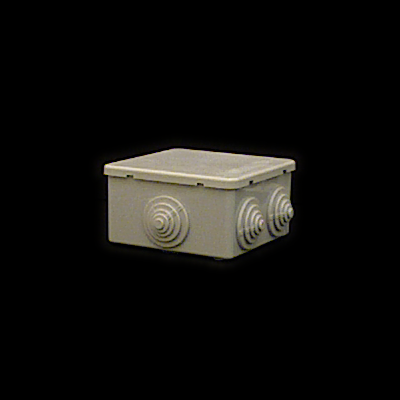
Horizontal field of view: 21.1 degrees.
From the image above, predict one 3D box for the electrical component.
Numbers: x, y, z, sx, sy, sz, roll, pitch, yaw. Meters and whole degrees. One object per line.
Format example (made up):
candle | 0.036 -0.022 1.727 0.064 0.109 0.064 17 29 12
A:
electrical component | 0.000 0.000 0.651 0.099 0.049 0.100 7 13 28
